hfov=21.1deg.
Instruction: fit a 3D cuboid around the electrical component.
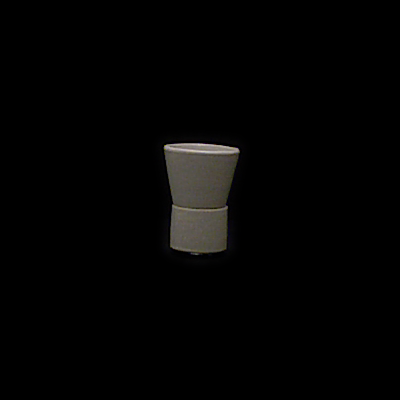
[{"bbox_3d":[0.000,0.000,0.646,0.044,0.066,0.044,2,10,0],"label":"electrical component"}]
